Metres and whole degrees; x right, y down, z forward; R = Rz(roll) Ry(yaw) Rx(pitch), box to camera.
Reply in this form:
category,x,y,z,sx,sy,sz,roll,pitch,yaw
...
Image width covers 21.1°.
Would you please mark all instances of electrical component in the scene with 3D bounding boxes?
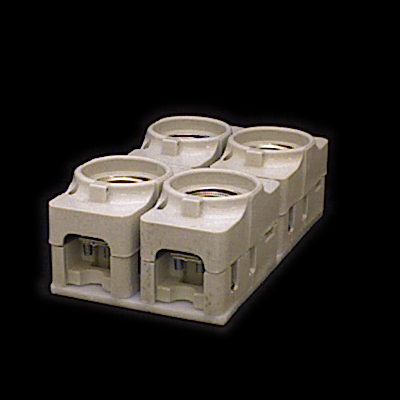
category,x,y,z,sx,sy,sz,roll,pitch,yaw
electrical component,0.000,0.000,0.638,0.105,0.061,0.184,9,22,21
